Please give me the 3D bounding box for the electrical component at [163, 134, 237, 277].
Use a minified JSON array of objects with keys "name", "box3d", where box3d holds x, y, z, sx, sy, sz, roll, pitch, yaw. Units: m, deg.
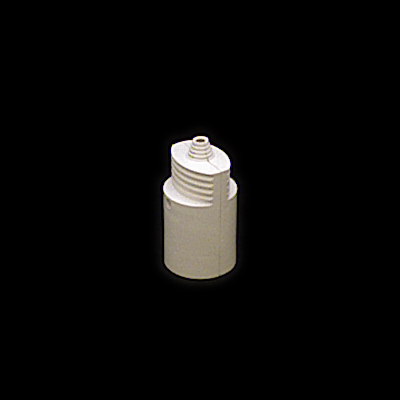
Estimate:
[{"name":"electrical component","box3d":[0.000,0.000,0.629,0.043,0.082,0.042,1,31,0]}]
